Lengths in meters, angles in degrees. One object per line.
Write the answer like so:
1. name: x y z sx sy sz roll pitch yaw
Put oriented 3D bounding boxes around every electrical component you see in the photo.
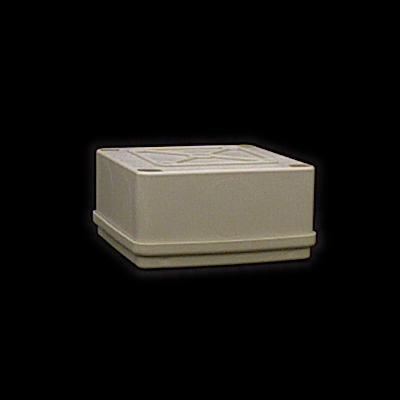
1. electrical component: 0.000 0.000 0.641 0.109 0.056 0.107 -3 11 -19
